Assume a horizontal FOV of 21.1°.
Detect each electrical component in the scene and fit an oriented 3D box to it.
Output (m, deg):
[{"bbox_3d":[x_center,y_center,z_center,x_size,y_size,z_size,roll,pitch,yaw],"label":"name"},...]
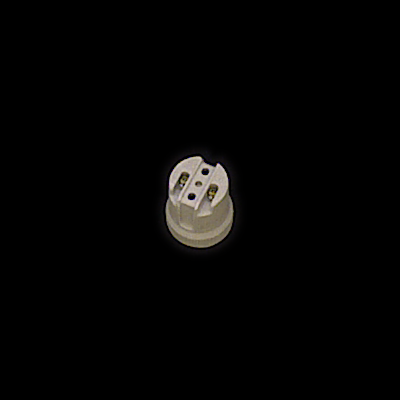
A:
[{"bbox_3d":[0.000,0.000,0.633,0.040,0.040,0.046,0,-27,0],"label":"electrical component"}]
